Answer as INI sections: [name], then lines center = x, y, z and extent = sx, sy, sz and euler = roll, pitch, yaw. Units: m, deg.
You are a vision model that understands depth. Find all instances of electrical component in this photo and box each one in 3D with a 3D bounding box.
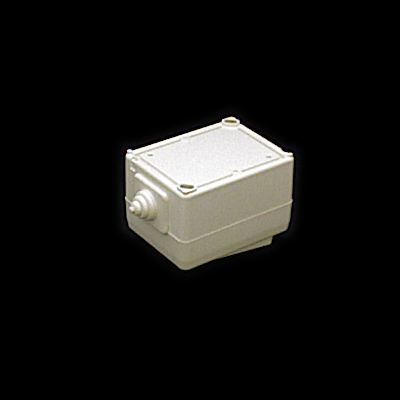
[electrical component]
center = 0.000, 0.000, 0.629
extent = 0.096, 0.061, 0.061
euler = -20, 38, -31
